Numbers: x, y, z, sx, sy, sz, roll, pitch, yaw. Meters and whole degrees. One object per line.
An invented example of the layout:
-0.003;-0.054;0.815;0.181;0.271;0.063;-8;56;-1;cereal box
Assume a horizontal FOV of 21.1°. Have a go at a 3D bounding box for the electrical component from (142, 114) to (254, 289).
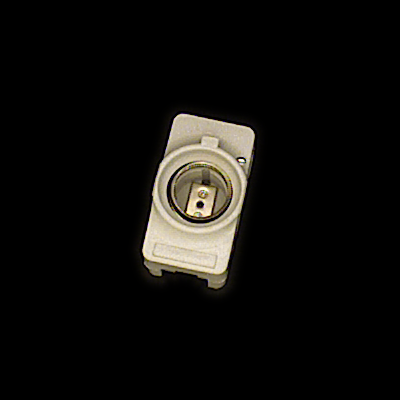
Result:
0.000;0.000;0.636;0.050;0.090;0.055;11;-16;3;electrical component
